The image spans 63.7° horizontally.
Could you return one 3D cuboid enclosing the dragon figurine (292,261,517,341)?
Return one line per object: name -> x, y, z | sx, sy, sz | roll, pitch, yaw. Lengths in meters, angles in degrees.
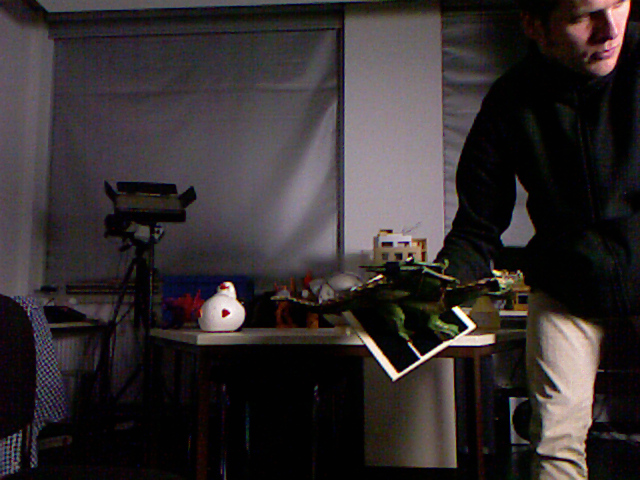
dragon figurine -> 0.147, 0.089, 0.937 | 0.411, 0.125, 0.237 | -1, -31, 0
